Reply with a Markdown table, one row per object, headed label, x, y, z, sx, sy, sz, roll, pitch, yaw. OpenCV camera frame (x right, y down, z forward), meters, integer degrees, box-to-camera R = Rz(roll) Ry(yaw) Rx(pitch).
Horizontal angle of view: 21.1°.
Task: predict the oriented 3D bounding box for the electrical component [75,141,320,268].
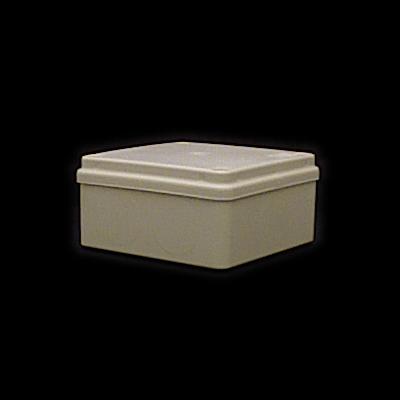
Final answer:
| label | x | y | z | sx | sy | sz | roll | pitch | yaw |
| --- | --- | --- | --- | --- | --- | --- | --- | --- | --- |
| electrical component | 0.000 | 0.000 | 0.644 | 0.108 | 0.056 | 0.108 | 8 | 12 | 34 |
